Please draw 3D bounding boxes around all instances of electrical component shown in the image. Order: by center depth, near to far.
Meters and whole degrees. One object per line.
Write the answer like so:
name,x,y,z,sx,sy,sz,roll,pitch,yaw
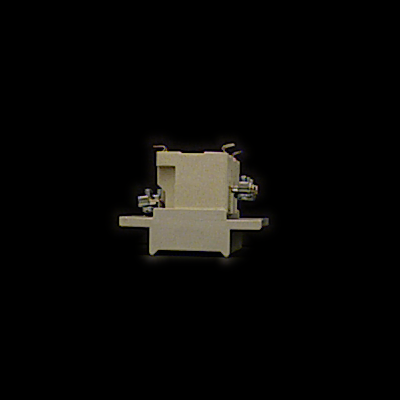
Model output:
electrical component,0.000,0.000,0.656,0.078,0.063,0.121,1,0,5
